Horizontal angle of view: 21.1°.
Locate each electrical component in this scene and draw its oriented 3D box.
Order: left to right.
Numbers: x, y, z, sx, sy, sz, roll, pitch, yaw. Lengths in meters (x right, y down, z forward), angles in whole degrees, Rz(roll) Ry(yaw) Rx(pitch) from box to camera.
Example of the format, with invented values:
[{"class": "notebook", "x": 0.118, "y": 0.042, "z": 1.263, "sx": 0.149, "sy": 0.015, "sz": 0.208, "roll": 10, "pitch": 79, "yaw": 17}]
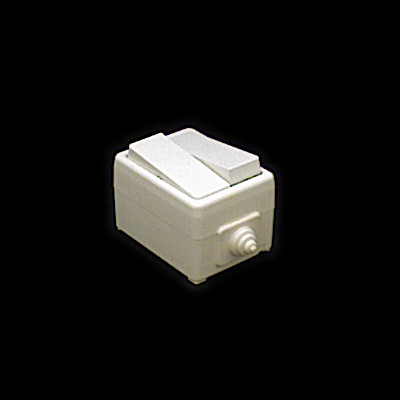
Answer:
[{"class": "electrical component", "x": 0.000, "y": 0.000, "z": 0.632, "sx": 0.061, "sy": 0.061, "sz": 0.095, "roll": -23, "pitch": 38, "yaw": -33}]
